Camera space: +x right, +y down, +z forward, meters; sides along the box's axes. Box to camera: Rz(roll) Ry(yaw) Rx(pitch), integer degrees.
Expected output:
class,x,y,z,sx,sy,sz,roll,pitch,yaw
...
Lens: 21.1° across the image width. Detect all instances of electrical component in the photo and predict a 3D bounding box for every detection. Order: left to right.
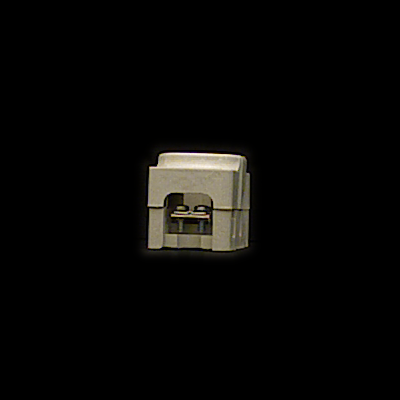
class,x,y,z,sx,sy,sz,roll,pitch,yaw
electrical component,0.000,0.000,0.657,0.050,0.056,0.090,2,1,9
